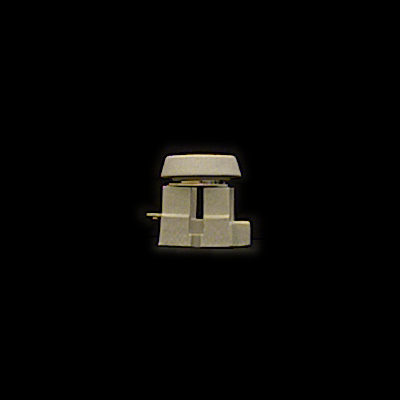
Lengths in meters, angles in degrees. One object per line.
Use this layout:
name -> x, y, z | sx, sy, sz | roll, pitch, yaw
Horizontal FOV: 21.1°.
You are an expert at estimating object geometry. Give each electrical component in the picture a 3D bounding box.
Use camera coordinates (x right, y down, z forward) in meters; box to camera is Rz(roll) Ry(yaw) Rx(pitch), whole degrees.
electrical component -> 0.000, 0.000, 0.656 | 0.066, 0.055, 0.048 | 2, 0, 4
